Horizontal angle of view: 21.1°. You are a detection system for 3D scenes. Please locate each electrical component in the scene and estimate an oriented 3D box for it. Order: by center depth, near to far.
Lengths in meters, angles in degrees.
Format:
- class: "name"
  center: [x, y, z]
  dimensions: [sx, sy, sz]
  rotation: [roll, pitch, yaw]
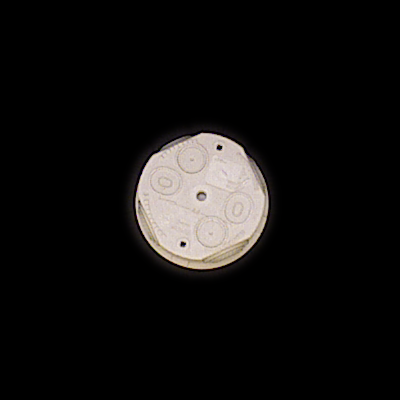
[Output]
- class: "electrical component"
  center: [0.000, 0.000, 0.633]
  dimensions: [0.080, 0.080, 0.050]
  rotation: [0, -7, 0]
